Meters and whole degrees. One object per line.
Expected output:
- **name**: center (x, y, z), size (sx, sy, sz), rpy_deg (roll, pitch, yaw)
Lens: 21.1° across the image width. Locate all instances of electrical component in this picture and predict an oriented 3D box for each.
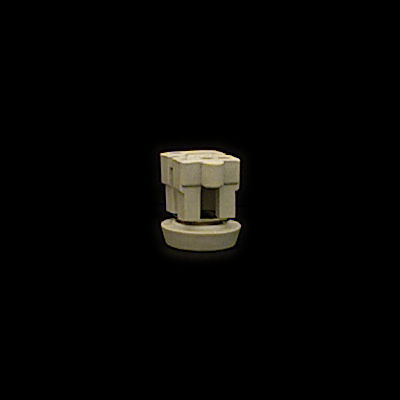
- **electrical component**: center (0.000, 0.000, 0.651), size (0.049, 0.056, 0.065), rpy_deg (-4, 12, -19)
